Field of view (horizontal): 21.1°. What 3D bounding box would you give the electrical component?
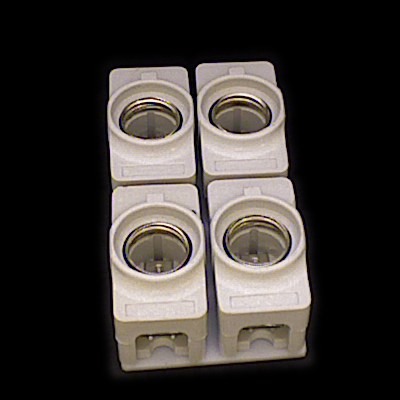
[{"bbox_3d":[0.000,0.000,0.627,0.105,0.185,0.060,-3,-38,-3],"label":"electrical component"}]
